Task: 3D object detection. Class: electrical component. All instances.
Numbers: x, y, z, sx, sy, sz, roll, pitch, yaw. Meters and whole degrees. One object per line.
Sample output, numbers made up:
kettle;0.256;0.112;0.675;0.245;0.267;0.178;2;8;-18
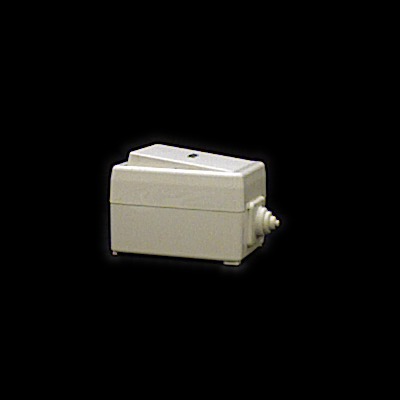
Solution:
electrical component;0.000;0.000;0.643;0.096;0.061;0.061;4;11;16
